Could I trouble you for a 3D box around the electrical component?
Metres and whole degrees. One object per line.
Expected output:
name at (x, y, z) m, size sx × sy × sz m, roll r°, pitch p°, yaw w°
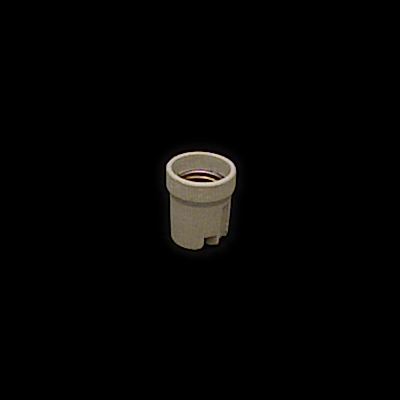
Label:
electrical component at (0.000, 0.000, 0.635) m, size 0.040 × 0.047 × 0.039 m, roll 1°, pitch 32°, yaw 0°
